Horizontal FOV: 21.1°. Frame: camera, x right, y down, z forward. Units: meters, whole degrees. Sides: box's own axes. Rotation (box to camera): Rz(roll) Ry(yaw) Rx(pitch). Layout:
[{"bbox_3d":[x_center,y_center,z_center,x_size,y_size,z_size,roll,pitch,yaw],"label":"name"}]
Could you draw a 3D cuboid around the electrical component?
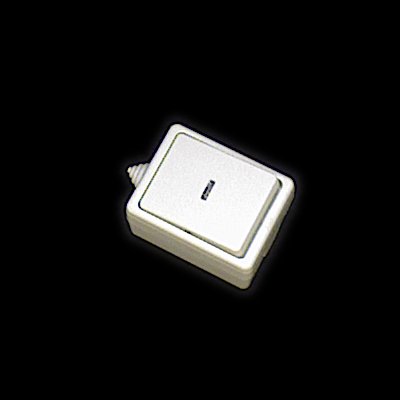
[{"bbox_3d":[0.000,0.000,0.626,0.096,0.062,0.060,26,-15,8],"label":"electrical component"}]
